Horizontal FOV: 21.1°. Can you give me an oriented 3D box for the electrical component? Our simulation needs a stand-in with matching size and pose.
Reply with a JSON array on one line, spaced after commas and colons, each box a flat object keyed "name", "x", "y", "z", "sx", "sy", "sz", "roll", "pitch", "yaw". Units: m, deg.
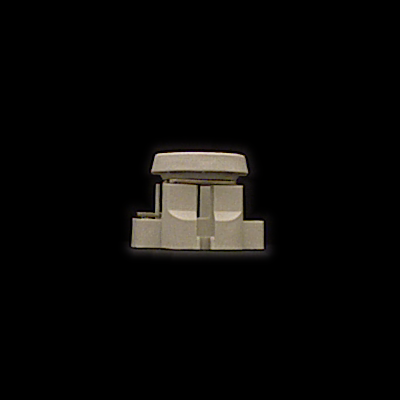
[{"name": "electrical component", "x": 0.000, "y": 0.000, "z": 0.648, "sx": 0.079, "sy": 0.057, "sz": 0.057, "roll": 1, "pitch": 1, "yaw": -10}]
